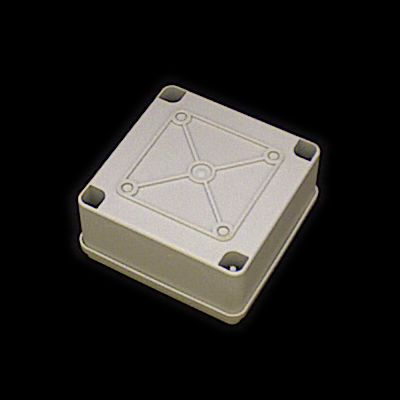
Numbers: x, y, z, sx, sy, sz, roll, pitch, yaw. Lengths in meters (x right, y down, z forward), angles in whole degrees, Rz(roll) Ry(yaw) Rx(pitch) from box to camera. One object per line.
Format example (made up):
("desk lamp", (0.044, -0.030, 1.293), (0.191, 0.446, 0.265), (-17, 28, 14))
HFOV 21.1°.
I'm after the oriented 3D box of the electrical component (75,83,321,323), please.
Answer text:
("electrical component", (0.000, 0.000, 0.628), (0.108, 0.108, 0.056), (24, -33, 17))
